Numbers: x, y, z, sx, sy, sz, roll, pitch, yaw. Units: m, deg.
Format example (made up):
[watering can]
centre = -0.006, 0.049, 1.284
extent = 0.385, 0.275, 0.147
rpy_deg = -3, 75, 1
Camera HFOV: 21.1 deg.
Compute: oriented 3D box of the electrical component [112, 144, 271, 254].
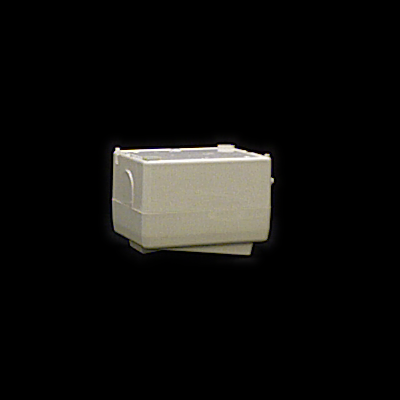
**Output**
[electrical component]
centre = 0.000, 0.000, 0.649
extent = 0.096, 0.061, 0.061
rpy_deg = -3, 11, -22
